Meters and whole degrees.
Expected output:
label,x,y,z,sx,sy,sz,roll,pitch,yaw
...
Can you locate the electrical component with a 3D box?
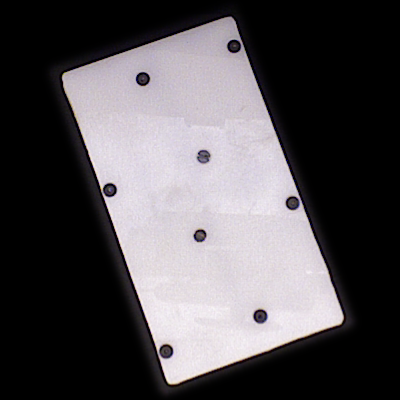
label,x,y,z,sx,sy,sz,roll,pitch,yaw
electrical component,0.000,0.000,0.626,0.105,0.186,0.060,-20,-7,-2
